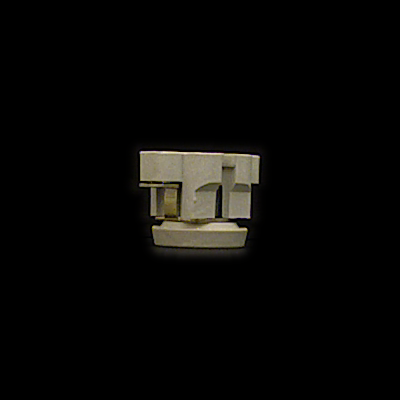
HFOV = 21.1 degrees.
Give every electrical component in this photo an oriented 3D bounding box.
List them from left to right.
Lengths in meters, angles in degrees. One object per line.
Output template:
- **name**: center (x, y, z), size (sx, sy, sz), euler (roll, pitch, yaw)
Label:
- **electrical component**: center (0.000, 0.000, 0.654), size (0.079, 0.057, 0.057), euler (-1, 3, -40)
